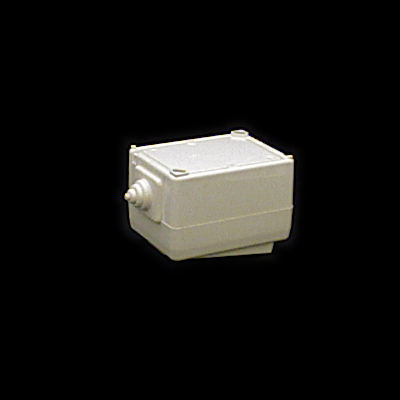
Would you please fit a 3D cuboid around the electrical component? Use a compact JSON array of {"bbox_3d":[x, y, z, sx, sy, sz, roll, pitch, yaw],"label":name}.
[{"bbox_3d":[-0.001,0.000,0.633,0.096,0.061,0.061,-10,24,-28],"label":"electrical component"}]
